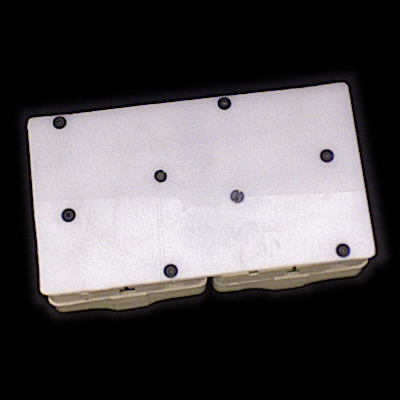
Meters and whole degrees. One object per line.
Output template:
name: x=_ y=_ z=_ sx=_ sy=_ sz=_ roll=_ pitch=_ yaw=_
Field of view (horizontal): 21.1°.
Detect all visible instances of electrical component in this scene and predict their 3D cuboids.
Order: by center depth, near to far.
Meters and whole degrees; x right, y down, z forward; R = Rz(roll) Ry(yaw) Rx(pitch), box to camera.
electrical component: x=0.000 y=0.000 z=0.625 sx=0.186 sy=0.106 sz=0.060 roll=-7 pitch=-17 yaw=-2
